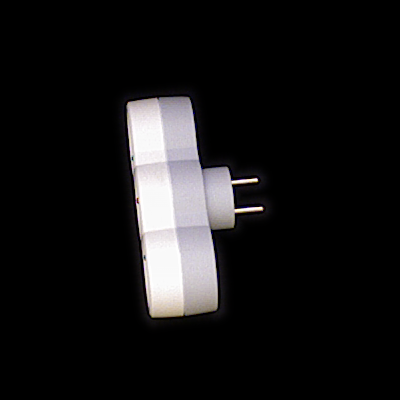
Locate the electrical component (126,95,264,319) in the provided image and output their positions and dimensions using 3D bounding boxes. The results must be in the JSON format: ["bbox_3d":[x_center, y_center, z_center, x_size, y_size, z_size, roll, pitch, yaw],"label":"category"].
[{"bbox_3d":[0.000,0.000,0.632,0.074,0.138,0.052,-6,-28,-6],"label":"electrical component"}]
